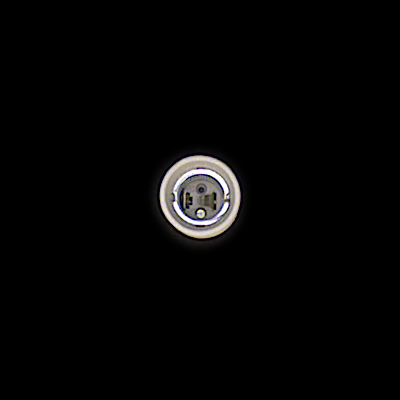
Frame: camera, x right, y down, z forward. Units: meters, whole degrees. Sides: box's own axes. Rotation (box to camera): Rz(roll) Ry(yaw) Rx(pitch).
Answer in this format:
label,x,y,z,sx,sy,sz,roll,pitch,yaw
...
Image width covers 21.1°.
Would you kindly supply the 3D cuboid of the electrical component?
label,x,y,z,sx,sy,sz,roll,pitch,yaw
electrical component,0.000,0.000,0.629,0.045,0.045,0.055,0,-6,1
